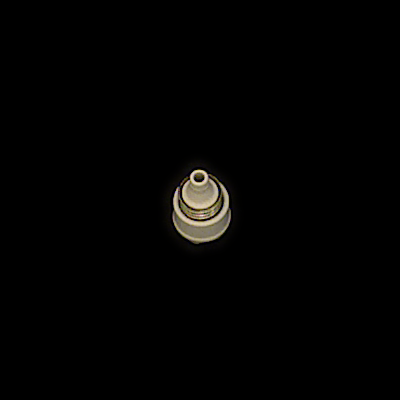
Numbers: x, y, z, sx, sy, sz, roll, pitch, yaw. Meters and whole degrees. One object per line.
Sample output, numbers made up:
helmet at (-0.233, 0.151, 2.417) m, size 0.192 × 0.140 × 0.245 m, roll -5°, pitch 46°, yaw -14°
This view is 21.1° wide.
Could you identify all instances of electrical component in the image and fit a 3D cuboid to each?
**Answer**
electrical component at (0.000, 0.000, 0.637) m, size 0.035 × 0.035 × 0.061 m, roll 0°, pitch -27°, yaw 2°
